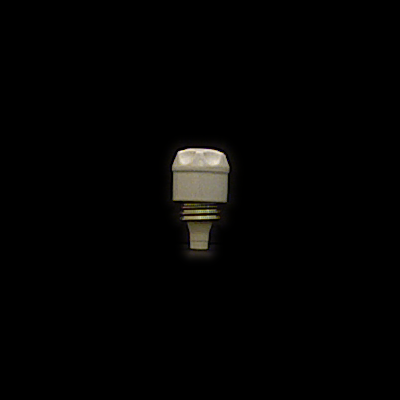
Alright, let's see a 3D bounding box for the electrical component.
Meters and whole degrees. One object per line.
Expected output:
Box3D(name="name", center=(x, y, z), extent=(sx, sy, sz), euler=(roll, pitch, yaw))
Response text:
Box3D(name="electrical component", center=(0.000, 0.000, 0.659), extent=(0.035, 0.061, 0.035), euler=(1, 1, 0))
